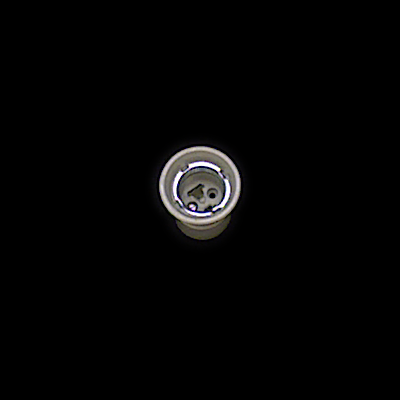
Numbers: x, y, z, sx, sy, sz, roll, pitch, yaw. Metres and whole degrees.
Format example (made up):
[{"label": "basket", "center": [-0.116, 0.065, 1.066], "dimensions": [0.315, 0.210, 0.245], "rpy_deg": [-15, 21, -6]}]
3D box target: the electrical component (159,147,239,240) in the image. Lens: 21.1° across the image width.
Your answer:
[{"label": "electrical component", "center": [0.000, 0.000, 0.623], "dimensions": [0.044, 0.044, 0.065], "rpy_deg": [0, -16, 1]}]
